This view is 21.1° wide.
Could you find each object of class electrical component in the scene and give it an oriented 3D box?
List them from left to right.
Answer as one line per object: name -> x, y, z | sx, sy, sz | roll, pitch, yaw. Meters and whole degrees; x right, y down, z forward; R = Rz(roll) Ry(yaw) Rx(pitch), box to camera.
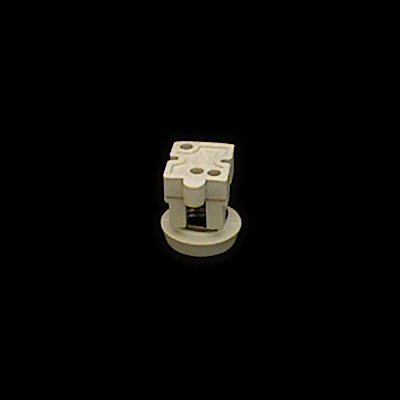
electrical component -> 0.000, 0.000, 0.642 | 0.048, 0.056, 0.066 | 3, 32, 6
